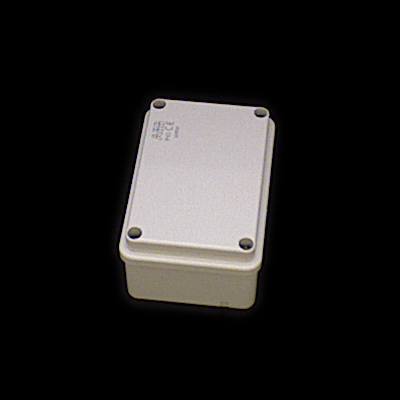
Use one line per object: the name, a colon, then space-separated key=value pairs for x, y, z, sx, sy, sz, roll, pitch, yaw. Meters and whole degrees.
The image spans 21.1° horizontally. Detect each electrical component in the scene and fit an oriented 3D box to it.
electrical component: x=0.000 y=0.000 z=0.628 sx=0.078 sy=0.113 sz=0.057 roll=5 pitch=-37 yaw=4
